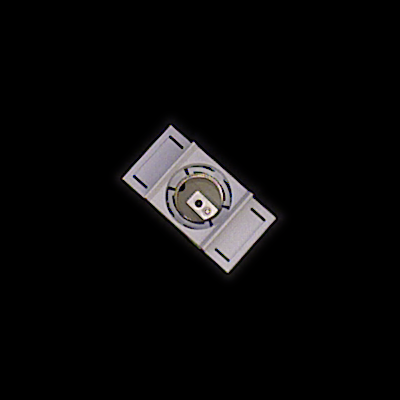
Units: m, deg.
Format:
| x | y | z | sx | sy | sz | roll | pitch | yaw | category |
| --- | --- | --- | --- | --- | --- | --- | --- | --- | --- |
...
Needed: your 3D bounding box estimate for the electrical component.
| x | y | z | sx | sy | sz | roll | pitch | yaw | category |
| --- | --- | --- | --- | --- | --- | --- | --- | --- | --- |
| 0.000 | 0.000 | 0.624 | 0.081 | 0.042 | 0.063 | 42 | -5 | 5 | electrical component |
